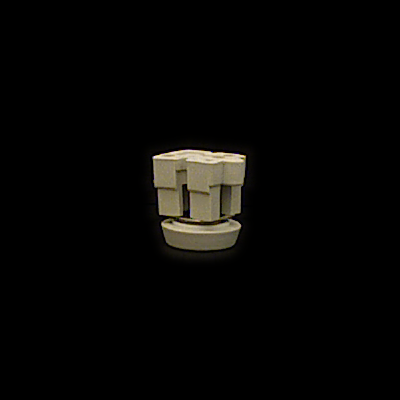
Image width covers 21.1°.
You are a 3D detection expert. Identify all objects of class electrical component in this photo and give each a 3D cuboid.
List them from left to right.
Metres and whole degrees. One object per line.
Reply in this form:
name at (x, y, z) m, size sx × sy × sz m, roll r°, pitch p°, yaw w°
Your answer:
electrical component at (0.000, 0.000, 0.652) m, size 0.066 × 0.056 × 0.048 m, roll 8°, pitch 15°, yaw 35°
